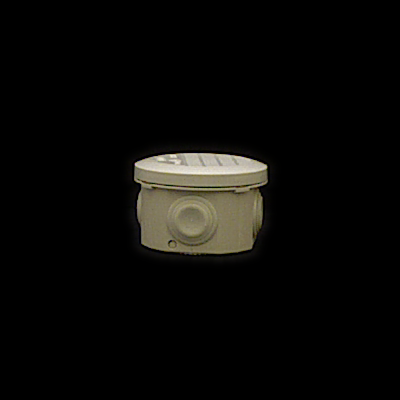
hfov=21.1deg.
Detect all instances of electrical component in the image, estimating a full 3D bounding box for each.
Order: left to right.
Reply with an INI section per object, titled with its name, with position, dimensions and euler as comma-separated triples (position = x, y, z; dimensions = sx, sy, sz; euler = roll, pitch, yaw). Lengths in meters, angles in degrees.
[electrical component]
position = 0.000, 0.000, 0.647
dimensions = 0.080, 0.051, 0.079
euler = 1, 10, 0
